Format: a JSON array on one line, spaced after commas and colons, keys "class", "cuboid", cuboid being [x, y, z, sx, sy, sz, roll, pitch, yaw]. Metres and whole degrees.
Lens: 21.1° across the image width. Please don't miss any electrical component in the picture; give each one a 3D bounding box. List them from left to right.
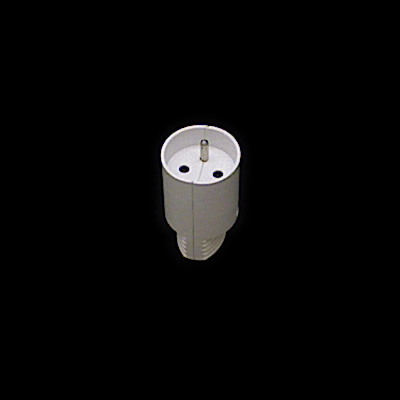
[{"class": "electrical component", "cuboid": [0.000, 0.000, 0.620, 0.043, 0.043, 0.081, 0, -38, -1]}]
